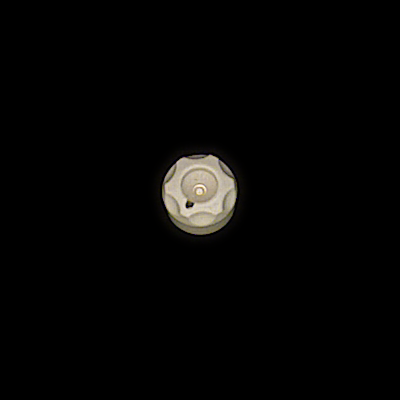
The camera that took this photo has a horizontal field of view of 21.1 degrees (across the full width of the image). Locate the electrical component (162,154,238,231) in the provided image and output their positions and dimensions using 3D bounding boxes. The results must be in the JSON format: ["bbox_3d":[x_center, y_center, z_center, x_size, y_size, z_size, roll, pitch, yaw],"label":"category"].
[{"bbox_3d":[0.000,0.000,0.634,0.043,0.043,0.061,0,-17,0],"label":"electrical component"}]
